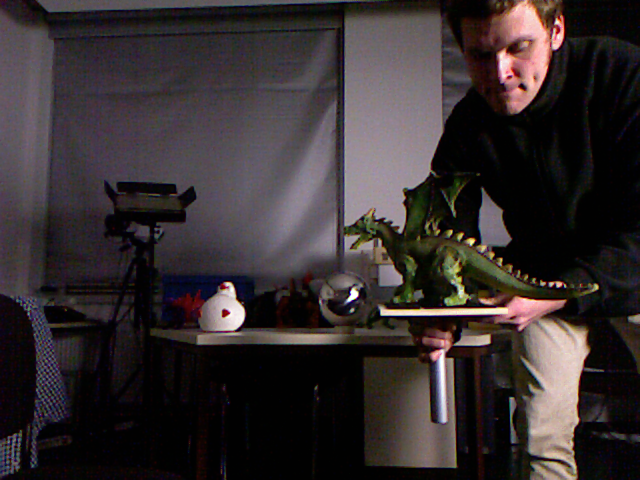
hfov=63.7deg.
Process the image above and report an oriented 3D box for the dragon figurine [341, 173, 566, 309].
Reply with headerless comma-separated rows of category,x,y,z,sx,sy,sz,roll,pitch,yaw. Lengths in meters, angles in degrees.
dragon figurine,0.220,-0.004,0.944,0.409,0.243,0.122,-5,-3,35
